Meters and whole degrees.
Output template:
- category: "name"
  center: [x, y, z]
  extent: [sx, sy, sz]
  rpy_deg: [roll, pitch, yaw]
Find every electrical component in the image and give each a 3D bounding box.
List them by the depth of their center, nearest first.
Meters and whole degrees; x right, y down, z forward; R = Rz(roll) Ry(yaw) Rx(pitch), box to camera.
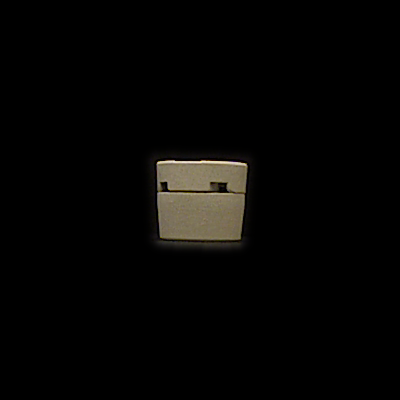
- category: "electrical component"
  center: [0.000, 0.000, 0.652]
  extent: [0.055, 0.047, 0.055]
  rpy_deg: [1, 1, 0]
